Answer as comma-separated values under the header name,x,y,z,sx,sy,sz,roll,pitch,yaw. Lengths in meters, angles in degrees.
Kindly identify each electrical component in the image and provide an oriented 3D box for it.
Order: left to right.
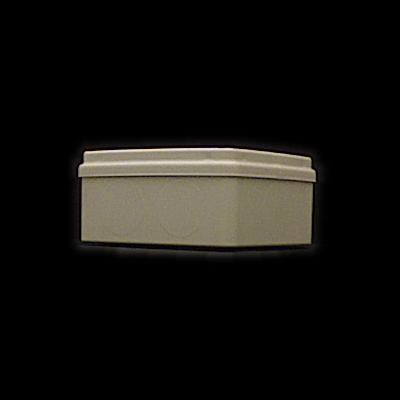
name,x,y,z,sx,sy,sz,roll,pitch,yaw
electrical component,0.000,0.000,0.649,0.108,0.056,0.109,1,0,31
